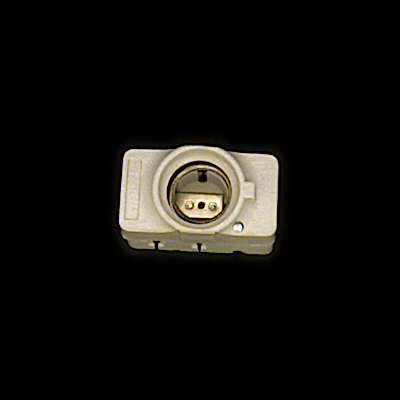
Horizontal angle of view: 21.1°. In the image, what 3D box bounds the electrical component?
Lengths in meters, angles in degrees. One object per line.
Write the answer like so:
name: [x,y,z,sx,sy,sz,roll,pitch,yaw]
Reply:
electrical component: [0.000,0.000,0.636,0.089,0.050,0.055,2,-16,1]
